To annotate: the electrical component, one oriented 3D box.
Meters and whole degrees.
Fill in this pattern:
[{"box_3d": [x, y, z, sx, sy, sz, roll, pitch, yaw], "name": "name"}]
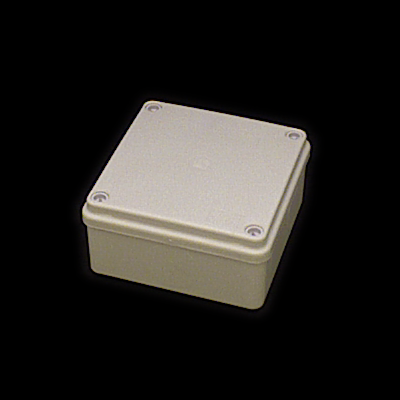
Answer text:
[{"box_3d": [0.000, 0.000, 0.633, 0.108, 0.057, 0.108, 12, 43, 12], "name": "electrical component"}]
